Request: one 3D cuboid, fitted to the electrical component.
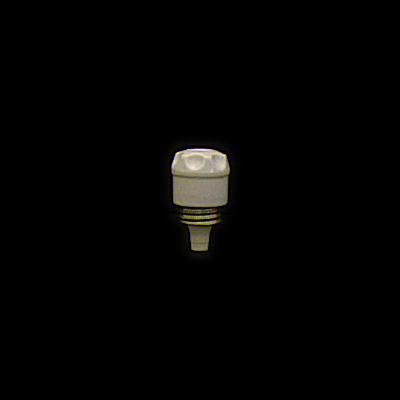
[{"bbox_3d":[0.000,0.000,0.652,0.035,0.062,0.035,1,12,0],"label":"electrical component"}]
